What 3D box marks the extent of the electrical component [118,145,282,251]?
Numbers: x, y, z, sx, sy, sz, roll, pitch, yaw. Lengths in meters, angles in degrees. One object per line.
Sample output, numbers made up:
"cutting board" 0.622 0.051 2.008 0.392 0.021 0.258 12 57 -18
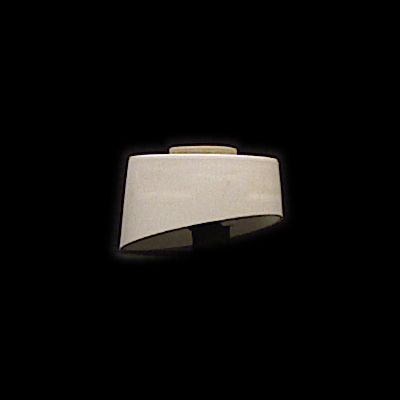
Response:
"electrical component" 0.000 0.000 0.650 0.099 0.064 0.099 1 0 0
